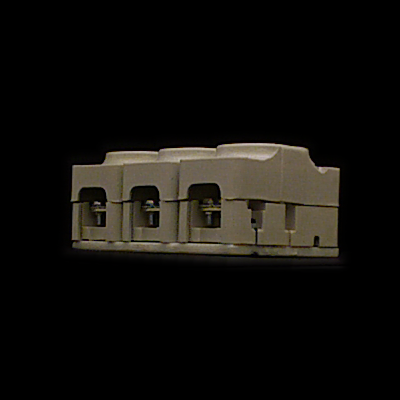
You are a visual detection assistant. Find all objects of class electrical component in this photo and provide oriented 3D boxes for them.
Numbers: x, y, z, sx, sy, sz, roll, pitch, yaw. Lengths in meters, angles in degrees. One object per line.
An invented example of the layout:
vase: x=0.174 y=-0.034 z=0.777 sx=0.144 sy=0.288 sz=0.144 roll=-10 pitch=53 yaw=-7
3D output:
electrical component: x=0.000 y=0.000 z=0.658 sx=0.090 sy=0.062 sz=0.150 roll=2 pitch=-1 yaw=-43
